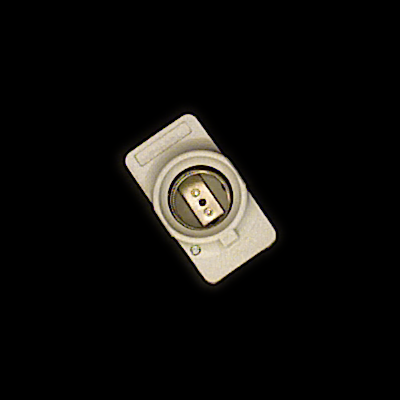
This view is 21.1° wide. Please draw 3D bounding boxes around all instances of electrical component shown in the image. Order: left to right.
[{"bbox_3d":[0.000,0.000,0.637,0.050,0.089,0.055,-35,-5,-2],"label":"electrical component"}]
